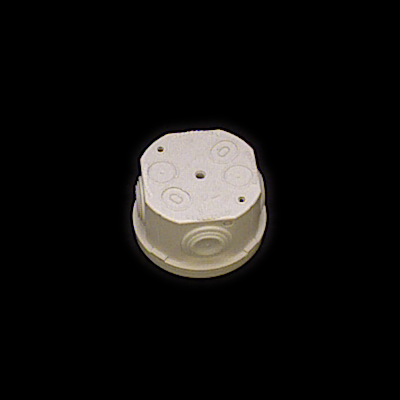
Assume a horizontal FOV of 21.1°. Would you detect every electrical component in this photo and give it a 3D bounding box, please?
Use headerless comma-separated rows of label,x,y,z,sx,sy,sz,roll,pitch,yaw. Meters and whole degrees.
electrical component,0.000,0.000,0.632,0.080,0.080,0.051,0,-37,-1
